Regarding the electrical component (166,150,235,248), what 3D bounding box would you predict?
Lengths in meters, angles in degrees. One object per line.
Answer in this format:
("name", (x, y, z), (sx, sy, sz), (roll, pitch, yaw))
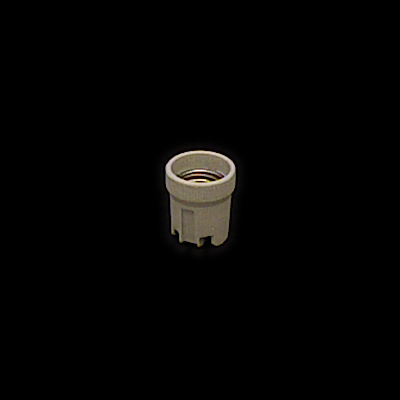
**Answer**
("electrical component", (0.000, 0.000, 0.634), (0.040, 0.047, 0.039), (1, 32, 0))
